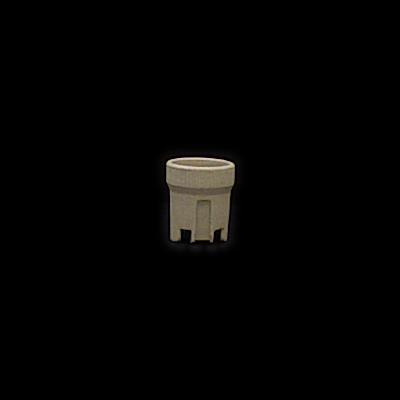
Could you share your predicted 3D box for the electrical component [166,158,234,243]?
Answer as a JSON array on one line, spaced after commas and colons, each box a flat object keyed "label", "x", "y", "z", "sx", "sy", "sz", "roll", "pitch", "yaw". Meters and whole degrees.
[{"label": "electrical component", "x": 0.000, "y": 0.000, "z": 0.642, "sx": 0.040, "sy": 0.046, "sz": 0.040, "roll": 1, "pitch": 11, "yaw": 0}]
